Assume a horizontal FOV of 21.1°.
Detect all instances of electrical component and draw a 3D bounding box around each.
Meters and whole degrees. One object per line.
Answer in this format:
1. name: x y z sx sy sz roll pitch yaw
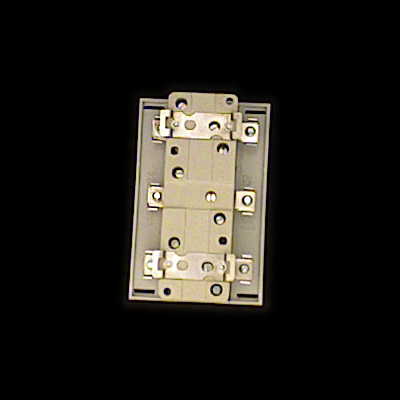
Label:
1. electrical component: 0.000 0.000 0.634 0.079 0.122 0.063 2 -6 1
